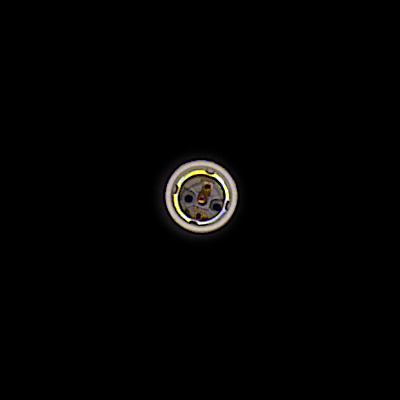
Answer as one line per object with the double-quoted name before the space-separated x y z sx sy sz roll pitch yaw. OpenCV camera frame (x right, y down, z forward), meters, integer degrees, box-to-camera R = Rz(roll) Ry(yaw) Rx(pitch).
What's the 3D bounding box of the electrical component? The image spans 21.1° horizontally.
"electrical component" 0.000 0.000 0.627 0.040 0.040 0.046 0 -6 0
